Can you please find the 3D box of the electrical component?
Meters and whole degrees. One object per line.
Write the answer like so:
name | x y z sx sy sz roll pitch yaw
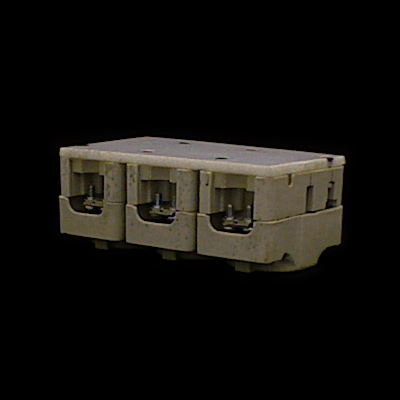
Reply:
electrical component | 0.000 0.000 0.650 0.149 0.062 0.089 7 12 34
